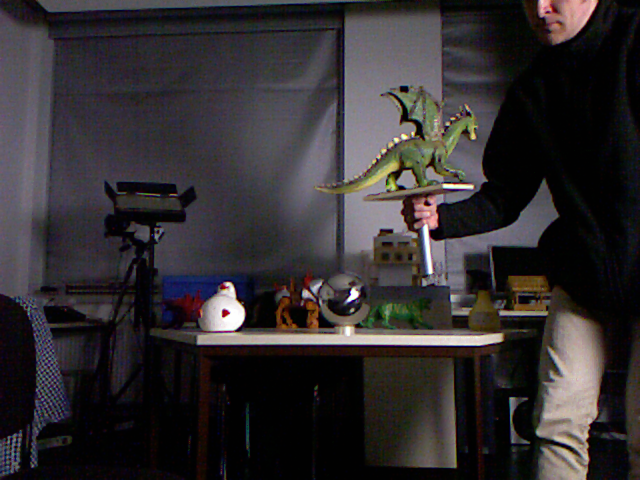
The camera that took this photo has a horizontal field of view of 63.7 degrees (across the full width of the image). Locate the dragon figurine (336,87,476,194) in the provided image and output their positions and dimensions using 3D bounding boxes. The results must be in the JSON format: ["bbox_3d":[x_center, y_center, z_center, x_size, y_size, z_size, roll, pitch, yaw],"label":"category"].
[{"bbox_3d":[0.221,-0.245,1.250,0.412,0.242,0.122,-8,6,-22],"label":"dragon figurine"}]
